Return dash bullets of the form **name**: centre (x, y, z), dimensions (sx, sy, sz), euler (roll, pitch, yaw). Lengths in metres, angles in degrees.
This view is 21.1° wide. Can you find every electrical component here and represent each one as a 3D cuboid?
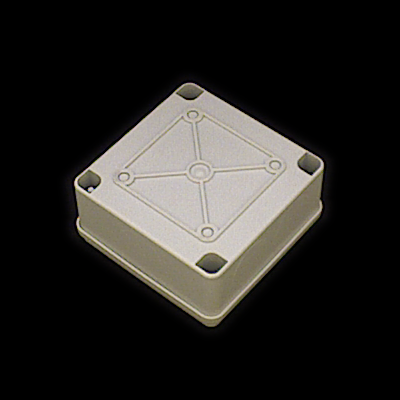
- **electrical component**: centre (0.000, 0.000, 0.628), dimensions (0.108, 0.109, 0.056), euler (33, -30, 23)
